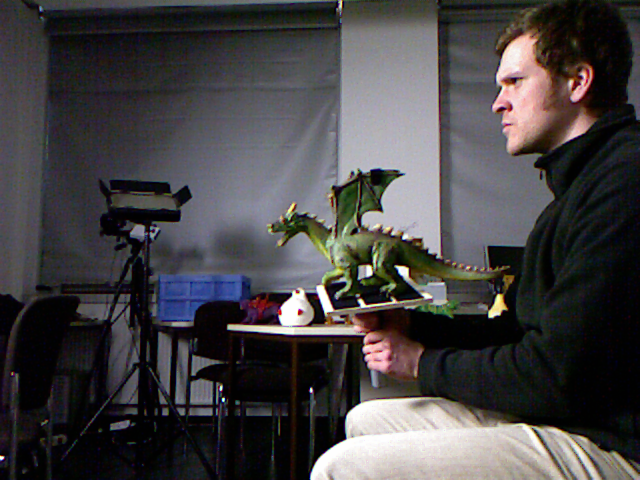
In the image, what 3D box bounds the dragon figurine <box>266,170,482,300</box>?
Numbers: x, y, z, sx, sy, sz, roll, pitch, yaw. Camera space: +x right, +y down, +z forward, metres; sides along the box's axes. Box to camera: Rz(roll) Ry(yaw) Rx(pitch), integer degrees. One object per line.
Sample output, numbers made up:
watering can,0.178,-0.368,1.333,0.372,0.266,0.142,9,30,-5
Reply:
dragon figurine,0.101,-0.016,1.020,0.411,0.241,0.123,-6,10,7
